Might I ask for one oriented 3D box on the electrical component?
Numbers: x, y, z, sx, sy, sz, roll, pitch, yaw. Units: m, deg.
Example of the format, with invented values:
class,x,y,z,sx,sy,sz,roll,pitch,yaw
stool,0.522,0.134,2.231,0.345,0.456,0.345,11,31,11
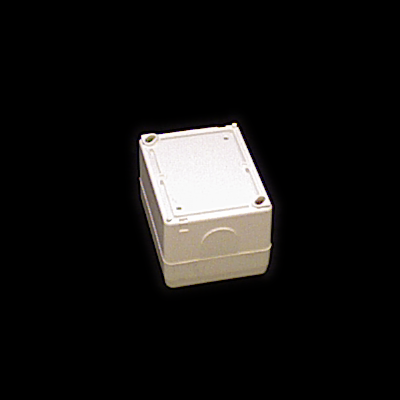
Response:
class,x,y,z,sx,sy,sz,roll,pitch,yaw
electrical component,0.000,0.000,0.633,0.062,0.061,0.095,-8,42,-10
